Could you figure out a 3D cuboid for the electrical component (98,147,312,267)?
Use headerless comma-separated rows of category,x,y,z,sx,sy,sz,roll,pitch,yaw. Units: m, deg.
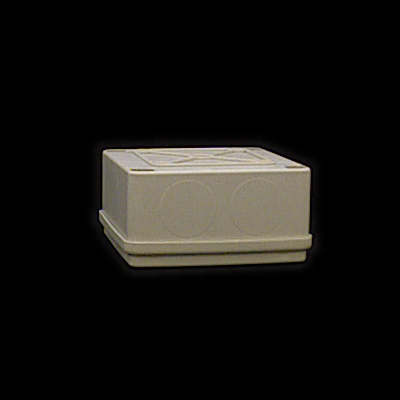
electrical component,0.000,0.000,0.644,0.109,0.056,0.107,-2,10,-14
